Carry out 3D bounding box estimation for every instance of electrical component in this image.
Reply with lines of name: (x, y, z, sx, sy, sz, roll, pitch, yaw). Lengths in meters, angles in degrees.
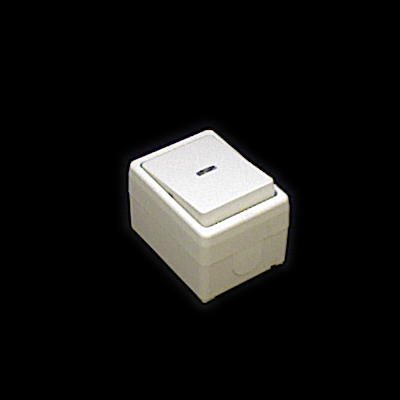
electrical component: (0.000, 0.000, 0.632, 0.062, 0.061, 0.095, -25, 48, -26)
